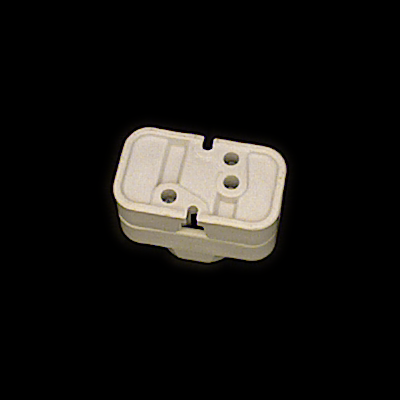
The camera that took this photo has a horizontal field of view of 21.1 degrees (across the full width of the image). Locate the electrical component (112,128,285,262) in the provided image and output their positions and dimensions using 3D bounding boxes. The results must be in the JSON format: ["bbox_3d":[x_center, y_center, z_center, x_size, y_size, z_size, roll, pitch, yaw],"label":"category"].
[{"bbox_3d":[0.000,0.000,0.636,0.095,0.054,0.059,9,-26,5],"label":"electrical component"}]
